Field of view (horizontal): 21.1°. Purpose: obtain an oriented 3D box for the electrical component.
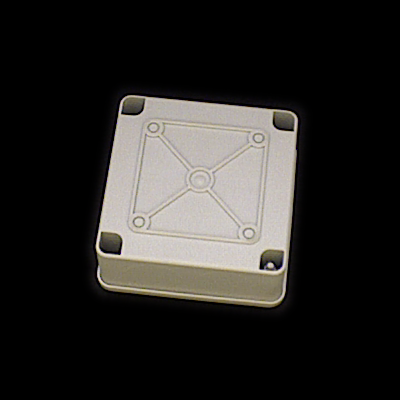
[{"bbox_3d":[0.000,0.000,0.627,0.109,0.109,0.056,6,-26,2],"label":"electrical component"}]
